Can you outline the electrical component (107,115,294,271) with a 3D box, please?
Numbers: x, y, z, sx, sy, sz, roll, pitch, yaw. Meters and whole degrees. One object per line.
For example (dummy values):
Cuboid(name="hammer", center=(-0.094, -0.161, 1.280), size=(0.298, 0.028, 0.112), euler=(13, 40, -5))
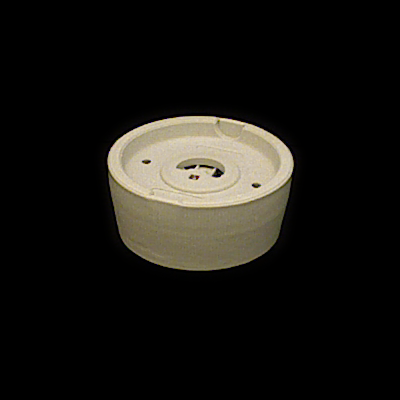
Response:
Cuboid(name="electrical component", center=(0.000, 0.000, 0.638), size=(0.108, 0.061, 0.106), euler=(1, 31, 0))
